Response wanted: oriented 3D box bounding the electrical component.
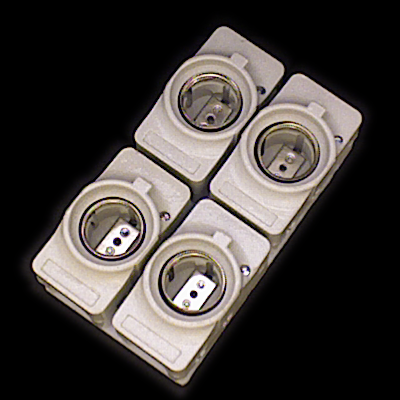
[{"bbox_3d":[0.000,0.000,0.625,0.105,0.187,0.060,34,-14,10],"label":"electrical component"}]
